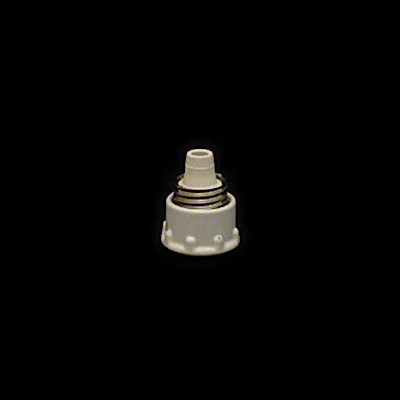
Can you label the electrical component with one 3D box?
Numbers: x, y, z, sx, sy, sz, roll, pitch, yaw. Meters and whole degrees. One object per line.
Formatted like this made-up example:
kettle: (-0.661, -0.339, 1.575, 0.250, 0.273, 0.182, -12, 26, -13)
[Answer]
electrical component: (0.000, 0.000, 0.644, 0.048, 0.063, 0.047, 0, 22, 1)
